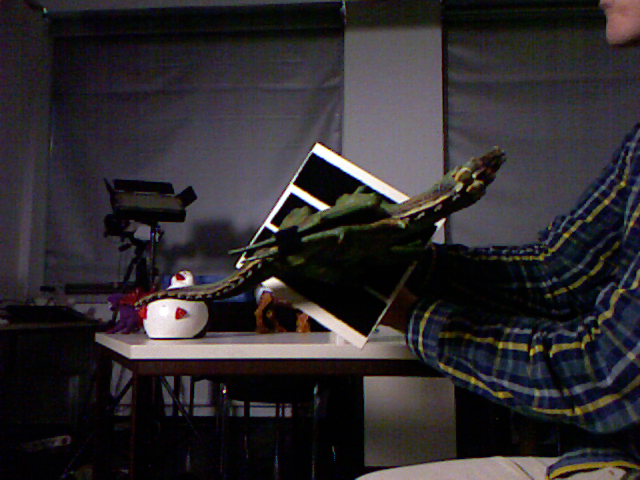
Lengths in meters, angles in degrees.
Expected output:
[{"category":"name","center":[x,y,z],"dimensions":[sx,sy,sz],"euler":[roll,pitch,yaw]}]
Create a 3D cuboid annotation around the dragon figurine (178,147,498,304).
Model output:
[{"category":"dragon figurine","center":[0.000,0.002,0.562],"dimensions":[0.411,0.123,0.242],"euler":[-23,-8,2]}]
